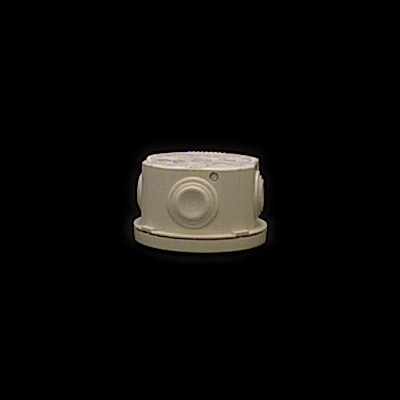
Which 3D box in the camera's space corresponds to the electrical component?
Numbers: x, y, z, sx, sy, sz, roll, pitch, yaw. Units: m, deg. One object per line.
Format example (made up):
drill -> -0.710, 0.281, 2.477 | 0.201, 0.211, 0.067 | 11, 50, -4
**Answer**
electrical component -> 0.000, 0.000, 0.644 | 0.080, 0.051, 0.079 | 1, 11, 0
